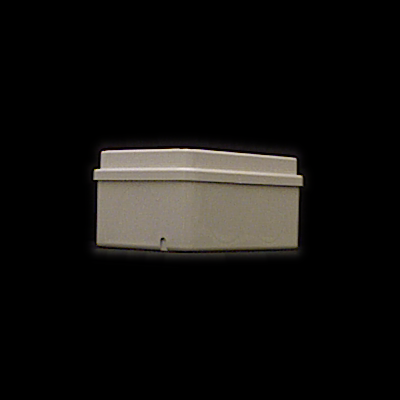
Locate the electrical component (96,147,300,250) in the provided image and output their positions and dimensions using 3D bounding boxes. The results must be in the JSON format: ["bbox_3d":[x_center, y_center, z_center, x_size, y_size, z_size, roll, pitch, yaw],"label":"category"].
[{"bbox_3d":[0.000,0.000,0.651,0.078,0.057,0.114,2,0,41],"label":"electrical component"}]
